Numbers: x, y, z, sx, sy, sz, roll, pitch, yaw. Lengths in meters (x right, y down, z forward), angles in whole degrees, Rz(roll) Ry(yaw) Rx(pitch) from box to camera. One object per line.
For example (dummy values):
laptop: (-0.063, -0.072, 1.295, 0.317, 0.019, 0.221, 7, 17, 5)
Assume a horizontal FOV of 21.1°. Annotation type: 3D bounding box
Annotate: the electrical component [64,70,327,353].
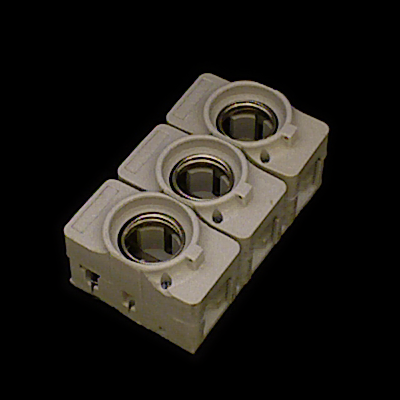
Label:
electrical component: (0.000, 0.000, 0.633, 0.089, 0.149, 0.062, 27, -33, 18)
